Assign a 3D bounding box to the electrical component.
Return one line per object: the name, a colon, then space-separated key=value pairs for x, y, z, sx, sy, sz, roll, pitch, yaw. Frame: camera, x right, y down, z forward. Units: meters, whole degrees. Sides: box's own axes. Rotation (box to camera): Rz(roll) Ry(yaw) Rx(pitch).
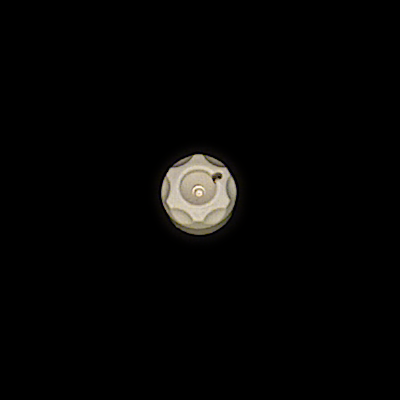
electrical component: x=0.000 y=0.000 z=0.634 sx=0.043 sy=0.043 sz=0.061 roll=0 pitch=-15 yaw=1
